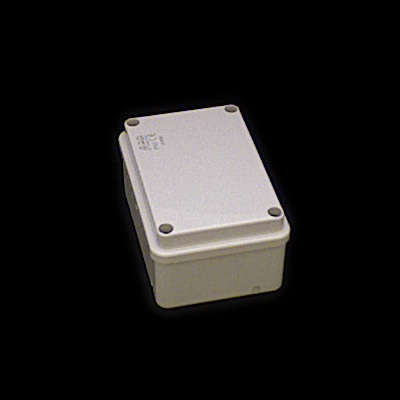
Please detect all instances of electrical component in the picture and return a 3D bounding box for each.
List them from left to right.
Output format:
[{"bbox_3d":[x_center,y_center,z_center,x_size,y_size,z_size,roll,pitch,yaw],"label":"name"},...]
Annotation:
[{"bbox_3d":[0.000,0.000,0.630,0.078,0.057,0.112,-9,43,-10],"label":"electrical component"}]
